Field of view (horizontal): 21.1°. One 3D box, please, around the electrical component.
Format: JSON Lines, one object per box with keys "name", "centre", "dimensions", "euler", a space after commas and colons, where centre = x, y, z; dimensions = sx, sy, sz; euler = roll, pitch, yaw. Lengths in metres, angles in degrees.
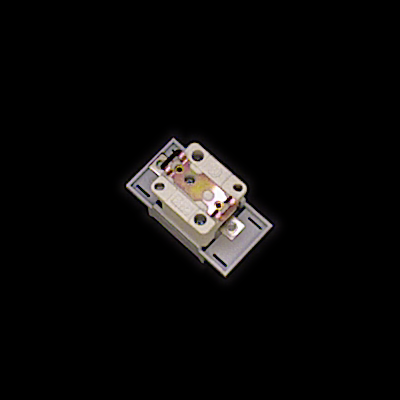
{"name": "electrical component", "centre": [0.000, 0.000, 0.625], "dimensions": [0.081, 0.042, 0.063], "euler": [41, -13, 11]}
